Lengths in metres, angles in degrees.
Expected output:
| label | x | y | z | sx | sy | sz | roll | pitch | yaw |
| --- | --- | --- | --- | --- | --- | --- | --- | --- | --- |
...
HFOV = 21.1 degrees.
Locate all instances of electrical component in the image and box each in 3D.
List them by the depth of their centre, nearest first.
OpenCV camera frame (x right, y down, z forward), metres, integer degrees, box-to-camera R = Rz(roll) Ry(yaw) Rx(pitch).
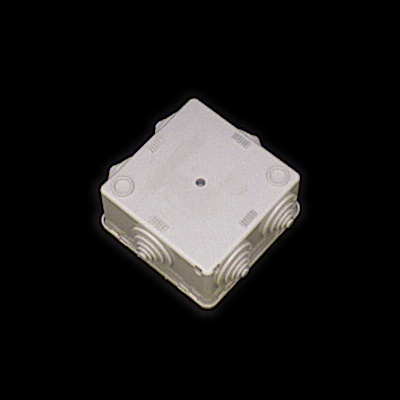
| label | x | y | z | sx | sy | sz | roll | pitch | yaw |
| --- | --- | --- | --- | --- | --- | --- | --- | --- | --- |
| electrical component | 0.000 | 0.000 | 0.631 | 0.099 | 0.100 | 0.048 | 38 | -21 | 17 |
